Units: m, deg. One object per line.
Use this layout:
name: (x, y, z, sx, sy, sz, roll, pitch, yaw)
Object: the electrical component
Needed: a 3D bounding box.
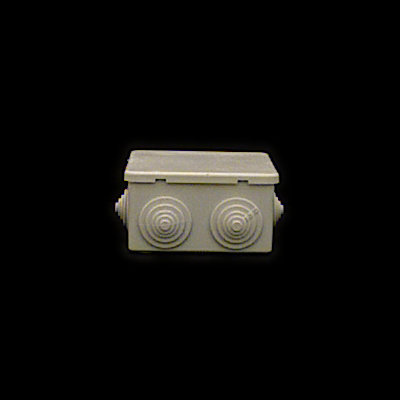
electrical component: (0.000, 0.000, 0.654, 0.100, 0.049, 0.099, 1, 11, -1)
